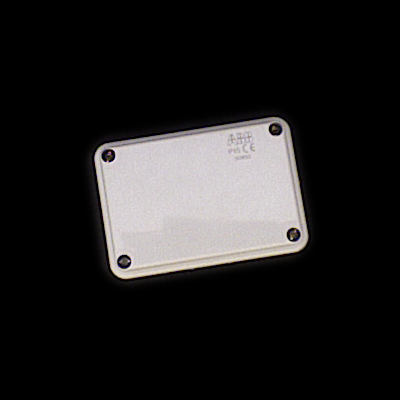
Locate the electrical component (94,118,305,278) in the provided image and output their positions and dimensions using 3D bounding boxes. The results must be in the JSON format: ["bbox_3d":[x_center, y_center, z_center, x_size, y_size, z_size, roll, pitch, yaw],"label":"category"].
[{"bbox_3d":[0.000,0.000,0.628,0.113,0.078,0.057,-9,-7,-1],"label":"electrical component"}]
